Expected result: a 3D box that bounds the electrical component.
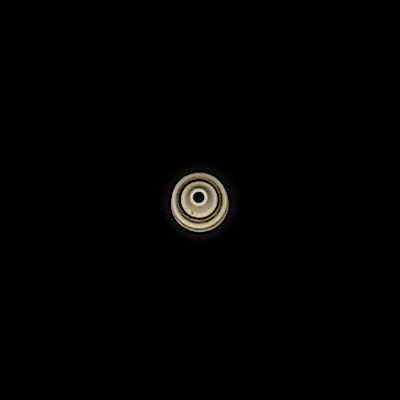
[{"bbox_3d":[0.000,0.000,0.638,0.035,0.035,0.061,0,-4,1],"label":"electrical component"}]
